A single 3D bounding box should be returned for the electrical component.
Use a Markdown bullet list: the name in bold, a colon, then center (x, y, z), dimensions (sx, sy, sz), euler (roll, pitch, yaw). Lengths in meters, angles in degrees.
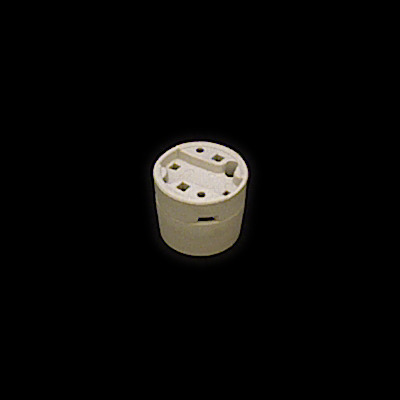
- **electrical component**: center (0.000, 0.000, 0.636), dimensions (0.055, 0.047, 0.055), euler (0, 42, 0)
